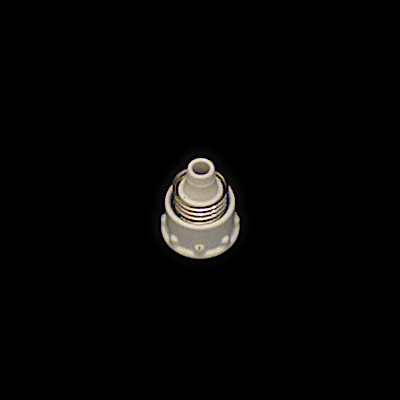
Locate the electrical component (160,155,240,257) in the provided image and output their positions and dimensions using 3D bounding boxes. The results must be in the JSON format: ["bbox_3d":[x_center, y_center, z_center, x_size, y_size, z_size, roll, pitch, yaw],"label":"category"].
[{"bbox_3d":[0.000,0.000,0.636,0.048,0.048,0.062,0,-38,-1],"label":"electrical component"}]
